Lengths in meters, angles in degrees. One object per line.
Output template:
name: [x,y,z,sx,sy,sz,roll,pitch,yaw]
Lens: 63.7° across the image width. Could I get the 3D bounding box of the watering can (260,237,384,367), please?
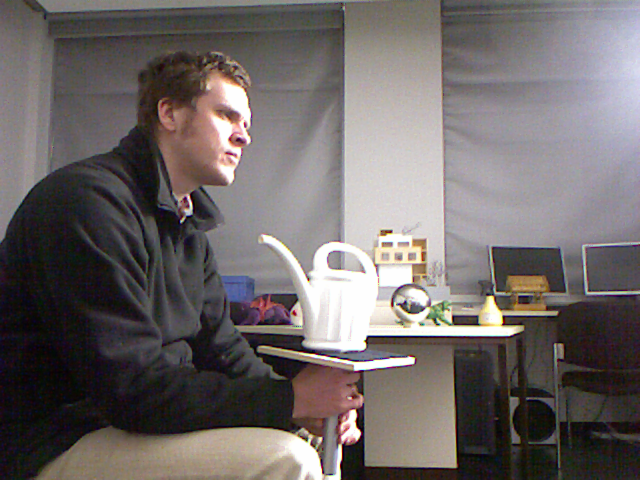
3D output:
watering can: [0.006,0.109,0.898,0.104,0.226,0.346,3,-7,40]
